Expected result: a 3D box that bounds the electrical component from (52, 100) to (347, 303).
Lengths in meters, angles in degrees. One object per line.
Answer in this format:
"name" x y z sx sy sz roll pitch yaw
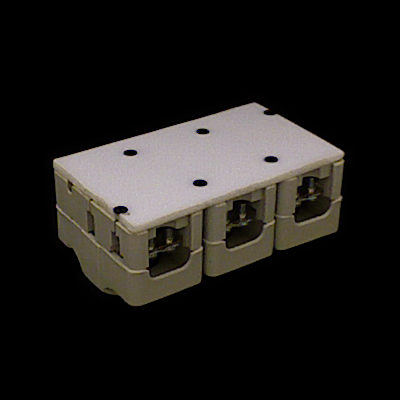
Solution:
"electrical component" 0.000 0.000 0.643 0.149 0.063 0.088 -19 36 -30
